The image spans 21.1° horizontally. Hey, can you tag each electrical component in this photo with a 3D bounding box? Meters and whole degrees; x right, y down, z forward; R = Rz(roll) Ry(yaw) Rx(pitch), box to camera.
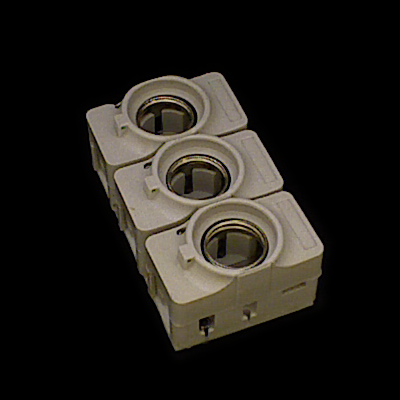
[{"bbox_3d":[0.000,0.000,0.633,0.089,0.148,0.062,-18,-36,-13],"label":"electrical component"}]
